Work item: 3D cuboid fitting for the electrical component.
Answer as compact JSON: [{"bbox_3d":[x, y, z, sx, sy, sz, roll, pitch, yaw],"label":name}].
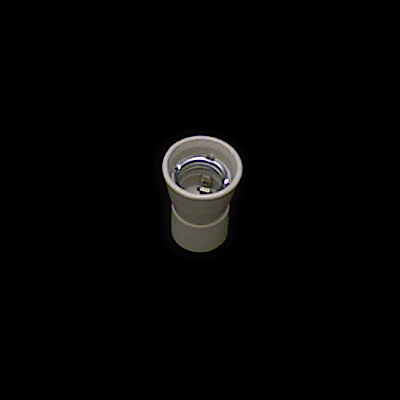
[{"bbox_3d":[0.000,0.000,0.626,0.044,0.044,0.065,0,-37,-2],"label":"electrical component"}]
